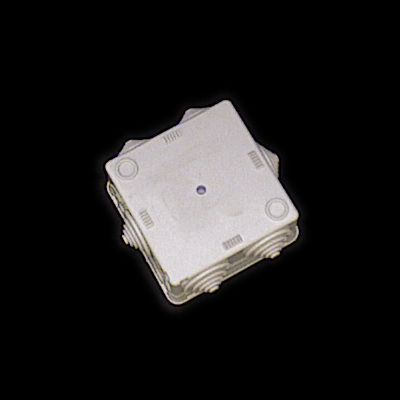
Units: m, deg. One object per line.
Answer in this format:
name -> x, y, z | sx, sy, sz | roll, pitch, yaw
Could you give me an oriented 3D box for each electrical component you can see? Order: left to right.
electrical component -> 0.000, 0.000, 0.631 | 0.100, 0.100, 0.048 | -28, -15, -8
